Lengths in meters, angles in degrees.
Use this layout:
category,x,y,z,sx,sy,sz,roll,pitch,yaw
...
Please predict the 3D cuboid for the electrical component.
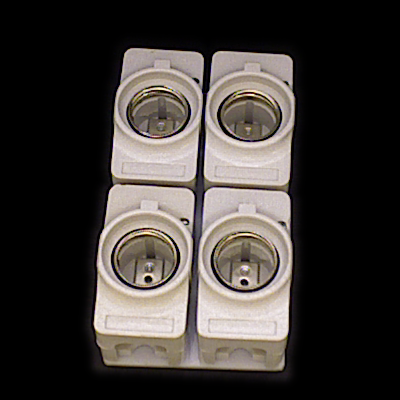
category,x,y,z,sx,sy,sz,roll,pitch,yaw
electrical component,0.000,0.000,0.626,0.105,0.186,0.060,3,-27,1
